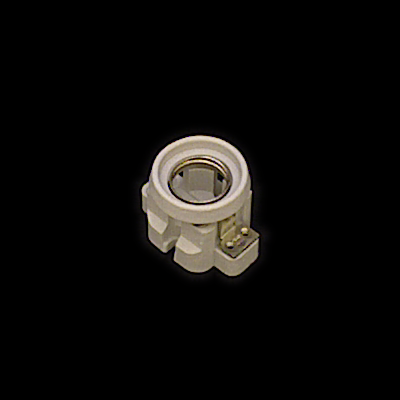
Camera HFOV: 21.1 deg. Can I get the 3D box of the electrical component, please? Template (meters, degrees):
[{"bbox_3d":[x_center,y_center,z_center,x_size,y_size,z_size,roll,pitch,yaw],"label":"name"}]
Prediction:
[{"bbox_3d":[0.000,0.000,0.629,0.078,0.057,0.058,37,60,24],"label":"electrical component"}]
